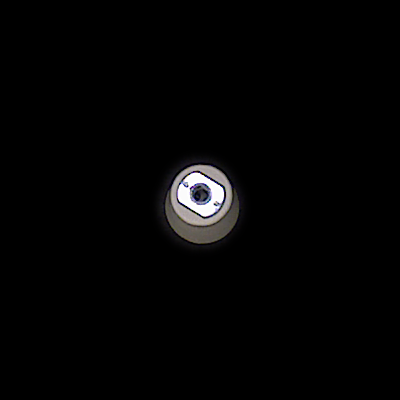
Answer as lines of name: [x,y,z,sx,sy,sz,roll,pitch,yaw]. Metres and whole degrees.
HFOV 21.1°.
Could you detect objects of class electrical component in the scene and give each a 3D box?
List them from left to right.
electrical component: [0.000,0.000,0.626,0.044,0.044,0.065,0,-7,0]
